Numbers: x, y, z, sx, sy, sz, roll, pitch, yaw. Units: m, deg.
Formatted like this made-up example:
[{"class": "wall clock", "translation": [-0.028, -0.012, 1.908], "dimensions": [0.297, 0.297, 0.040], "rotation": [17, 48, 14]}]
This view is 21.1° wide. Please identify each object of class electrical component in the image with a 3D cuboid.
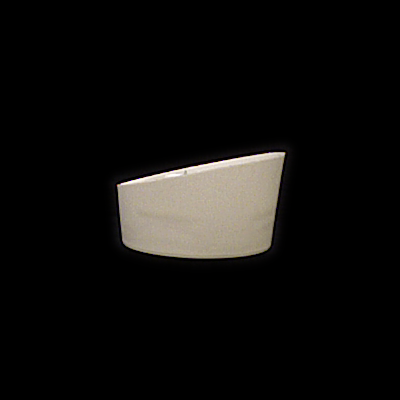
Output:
[{"class": "electrical component", "translation": [0.000, 0.000, 0.644], "dimensions": [0.099, 0.064, 0.098], "rotation": [2, 10, 0]}]
